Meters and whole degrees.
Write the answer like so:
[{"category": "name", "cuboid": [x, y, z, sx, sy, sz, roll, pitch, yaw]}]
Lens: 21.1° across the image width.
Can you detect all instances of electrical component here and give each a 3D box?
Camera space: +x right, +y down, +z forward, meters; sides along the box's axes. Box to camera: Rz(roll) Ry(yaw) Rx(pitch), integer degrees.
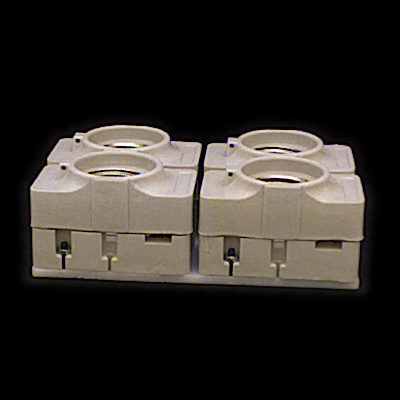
[{"category": "electrical component", "cuboid": [0.000, 0.000, 0.637, 0.186, 0.061, 0.104, 2, 21, 2]}]
